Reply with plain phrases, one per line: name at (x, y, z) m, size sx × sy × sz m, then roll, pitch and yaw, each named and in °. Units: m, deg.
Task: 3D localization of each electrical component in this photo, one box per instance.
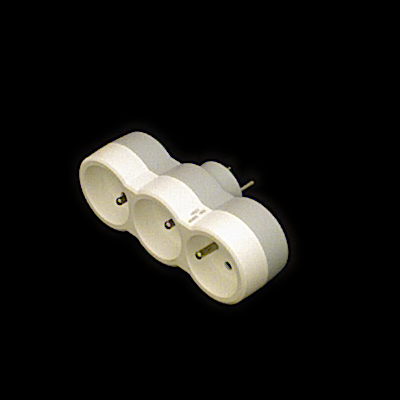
electrical component at (0.000, 0.000, 0.642) m, size 0.137 × 0.052 × 0.074 m, roll 33°, pitch 50°, yaw 30°
